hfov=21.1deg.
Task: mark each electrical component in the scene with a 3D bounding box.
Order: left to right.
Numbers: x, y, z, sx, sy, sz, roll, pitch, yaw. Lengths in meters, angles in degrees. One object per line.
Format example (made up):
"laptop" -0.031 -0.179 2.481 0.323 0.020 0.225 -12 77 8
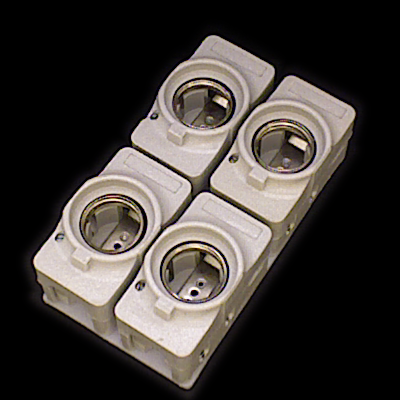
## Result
"electrical component" 0.000 0.000 0.625 0.105 0.187 0.060 30 -23 14
